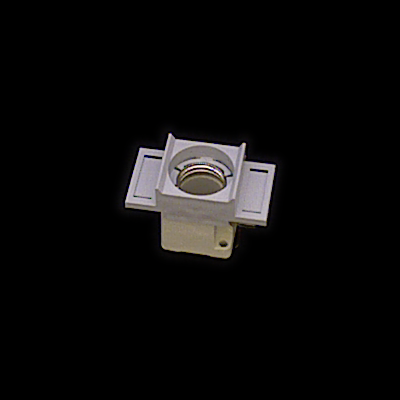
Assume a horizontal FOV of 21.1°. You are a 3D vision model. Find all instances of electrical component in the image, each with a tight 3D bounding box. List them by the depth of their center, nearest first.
[{"bbox_3d":[0.000,0.000,0.626,0.081,0.042,0.064,8,-39,6],"label":"electrical component"}]
